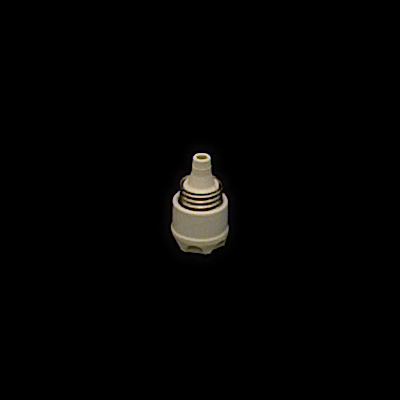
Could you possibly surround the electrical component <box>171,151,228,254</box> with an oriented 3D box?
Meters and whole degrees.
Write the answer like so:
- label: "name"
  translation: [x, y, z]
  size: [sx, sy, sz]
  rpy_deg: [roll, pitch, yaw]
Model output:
- label: "electrical component"
  translation: [0.000, 0.000, 0.647]
  size: [0.035, 0.062, 0.034]
  rpy_deg: [2, 32, -1]
